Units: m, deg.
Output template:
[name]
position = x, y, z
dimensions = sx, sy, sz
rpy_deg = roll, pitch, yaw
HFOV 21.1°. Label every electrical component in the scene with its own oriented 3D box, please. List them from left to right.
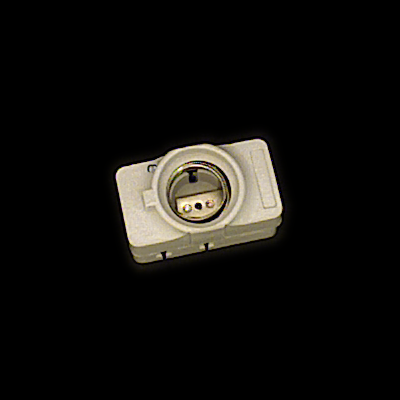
[electrical component]
position = 0.000, 0.000, 0.636
dimensions = 0.090, 0.050, 0.055
rpy_deg = -12, -16, -4
